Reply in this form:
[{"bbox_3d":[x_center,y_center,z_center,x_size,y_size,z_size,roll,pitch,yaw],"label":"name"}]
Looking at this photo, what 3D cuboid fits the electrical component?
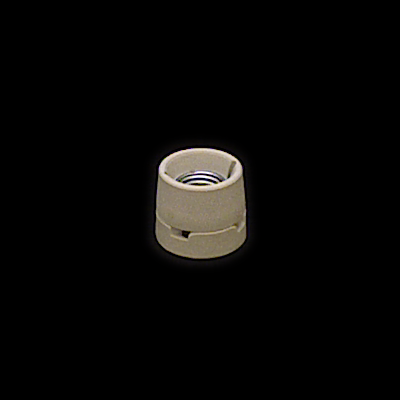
[{"bbox_3d":[0.000,0.000,0.637,0.055,0.047,0.055,0,31,0],"label":"electrical component"}]
